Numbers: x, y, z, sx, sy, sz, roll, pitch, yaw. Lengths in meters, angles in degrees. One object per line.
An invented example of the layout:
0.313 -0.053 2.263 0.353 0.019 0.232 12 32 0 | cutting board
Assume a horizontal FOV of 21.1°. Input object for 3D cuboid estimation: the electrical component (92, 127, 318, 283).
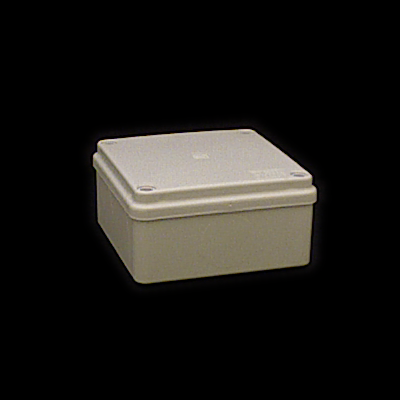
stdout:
0.000 0.000 0.640 0.109 0.057 0.107 -6 21 -17 | electrical component
